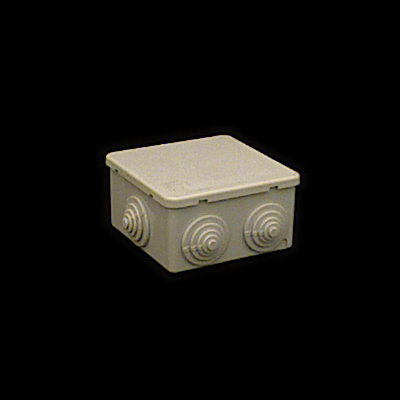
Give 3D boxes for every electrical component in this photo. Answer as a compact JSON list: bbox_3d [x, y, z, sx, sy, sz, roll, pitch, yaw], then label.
[{"bbox_3d":[0.000,0.000,0.646,0.100,0.049,0.098,-11,25,-28],"label":"electrical component"}]
